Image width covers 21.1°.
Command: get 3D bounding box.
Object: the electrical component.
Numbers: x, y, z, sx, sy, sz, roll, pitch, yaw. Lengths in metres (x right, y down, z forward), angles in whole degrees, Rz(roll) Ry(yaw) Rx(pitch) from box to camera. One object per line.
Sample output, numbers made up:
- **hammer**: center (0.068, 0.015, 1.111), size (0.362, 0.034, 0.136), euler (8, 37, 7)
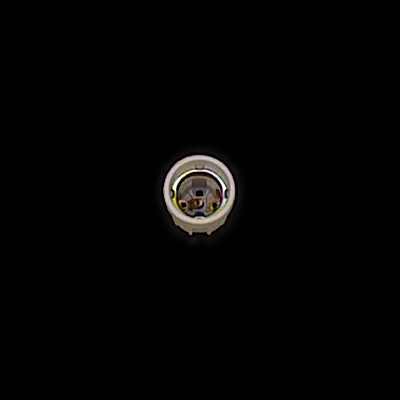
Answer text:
- **electrical component**: center (0.000, 0.000, 0.626), size (0.040, 0.040, 0.046), euler (0, -17, 0)
